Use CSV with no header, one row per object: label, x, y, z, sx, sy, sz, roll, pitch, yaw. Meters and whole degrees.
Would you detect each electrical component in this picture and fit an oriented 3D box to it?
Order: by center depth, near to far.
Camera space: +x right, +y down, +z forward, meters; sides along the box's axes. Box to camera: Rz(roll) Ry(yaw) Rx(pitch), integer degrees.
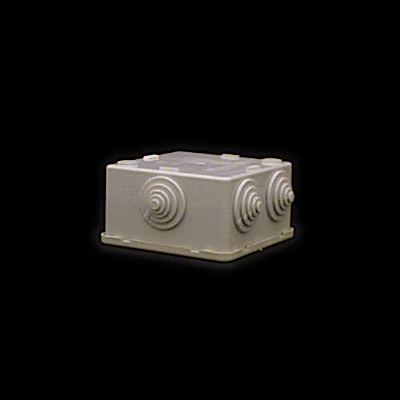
electrical component,0.000,0.000,0.646,0.099,0.049,0.099,7,12,30
